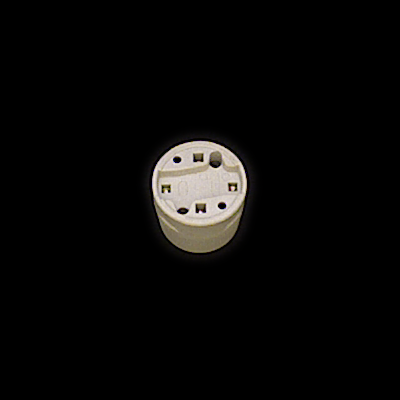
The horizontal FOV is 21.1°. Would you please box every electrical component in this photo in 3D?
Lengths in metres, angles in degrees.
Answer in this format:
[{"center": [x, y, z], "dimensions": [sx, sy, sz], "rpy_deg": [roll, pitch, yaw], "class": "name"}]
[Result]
[{"center": [0.000, 0.000, 0.635], "dimensions": [0.055, 0.056, 0.047], "rpy_deg": [0, -27, 0], "class": "electrical component"}]
